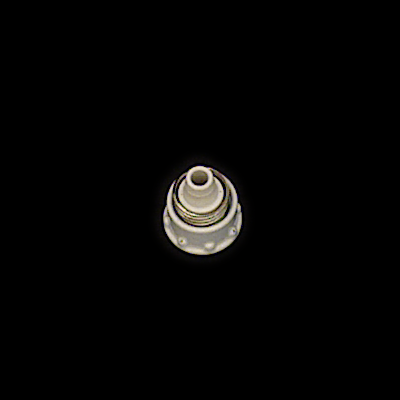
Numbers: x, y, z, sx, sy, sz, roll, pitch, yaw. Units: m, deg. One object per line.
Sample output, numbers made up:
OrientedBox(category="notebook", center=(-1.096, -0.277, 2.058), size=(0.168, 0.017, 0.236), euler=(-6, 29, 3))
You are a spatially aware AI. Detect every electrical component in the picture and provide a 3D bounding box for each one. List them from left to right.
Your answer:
OrientedBox(category="electrical component", center=(0.000, 0.000, 0.632), size=(0.048, 0.048, 0.062), euler=(0, -26, 2))
